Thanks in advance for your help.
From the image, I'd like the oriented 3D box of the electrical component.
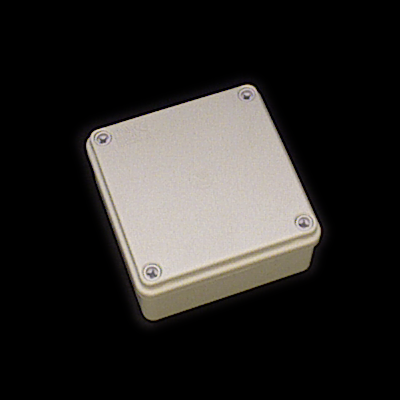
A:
[{"bbox_3d":[0.000,0.000,0.629,0.109,0.109,0.056,-18,-25,-9],"label":"electrical component"}]
